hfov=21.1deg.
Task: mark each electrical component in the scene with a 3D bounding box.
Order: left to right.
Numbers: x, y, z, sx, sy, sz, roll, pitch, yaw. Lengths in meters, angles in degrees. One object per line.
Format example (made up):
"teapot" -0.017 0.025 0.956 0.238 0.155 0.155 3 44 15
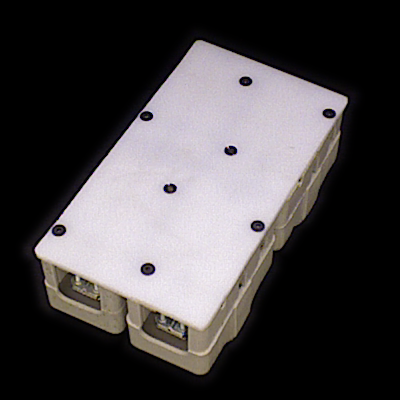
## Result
"electrical component" 0.000 0.000 0.627 0.105 0.186 0.060 23 -35 16
